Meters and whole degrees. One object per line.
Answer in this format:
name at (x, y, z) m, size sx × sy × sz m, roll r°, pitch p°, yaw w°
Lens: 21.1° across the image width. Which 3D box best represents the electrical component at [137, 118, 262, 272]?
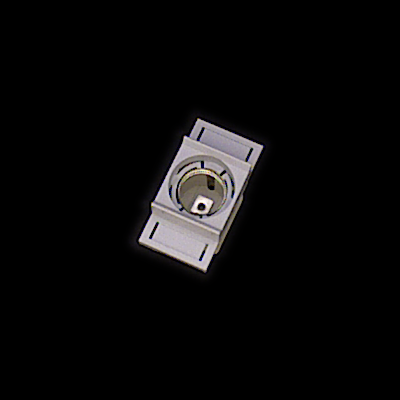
electrical component at (0.000, 0.000, 0.623) m, size 0.042 × 0.081 × 0.063 m, roll 24°, pitch -16°, yaw 6°
